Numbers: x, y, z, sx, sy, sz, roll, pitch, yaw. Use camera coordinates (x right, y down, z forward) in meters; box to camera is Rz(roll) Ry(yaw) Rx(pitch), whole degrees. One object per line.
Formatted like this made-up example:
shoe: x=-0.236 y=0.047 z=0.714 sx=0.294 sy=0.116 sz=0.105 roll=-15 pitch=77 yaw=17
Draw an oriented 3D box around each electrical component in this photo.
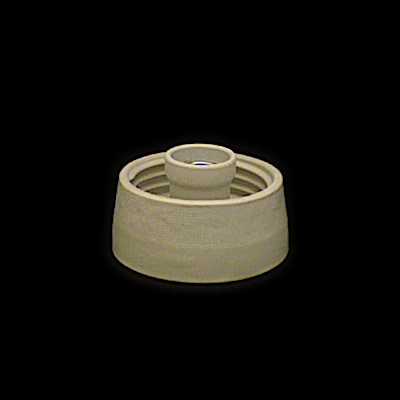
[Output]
electrical component: x=0.000 y=0.000 z=0.646 sx=0.108 sy=0.061 sz=0.106 roll=1 pitch=22 yaw=0
